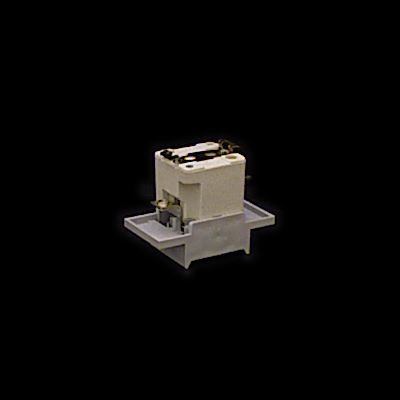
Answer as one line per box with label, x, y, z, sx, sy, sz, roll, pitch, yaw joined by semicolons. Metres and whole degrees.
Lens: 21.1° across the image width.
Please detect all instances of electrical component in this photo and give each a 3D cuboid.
electrical component;0.000;0.000;0.637;0.081;0.064;0.041;-12;25;-31
